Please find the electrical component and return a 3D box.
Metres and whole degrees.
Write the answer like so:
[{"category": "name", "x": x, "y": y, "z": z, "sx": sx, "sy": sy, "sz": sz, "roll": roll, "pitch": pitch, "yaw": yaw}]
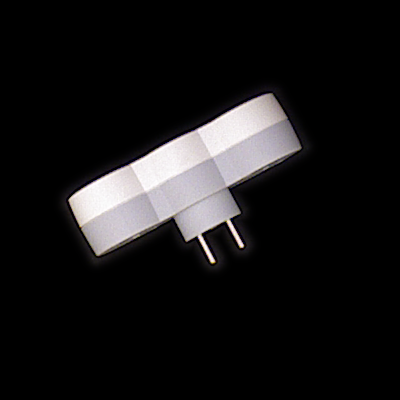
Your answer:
[{"category": "electrical component", "x": 0.000, "y": 0.000, "z": 0.632, "sx": 0.138, "sy": 0.074, "sz": 0.052, "roll": -28, "pitch": -4, "yaw": -4}]
